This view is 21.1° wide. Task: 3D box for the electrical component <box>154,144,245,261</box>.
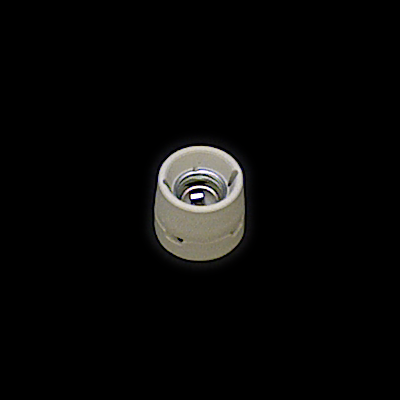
[{"bbox_3d":[0.000,0.000,0.634,0.055,0.055,0.047,0,-37,-2],"label":"electrical component"}]
